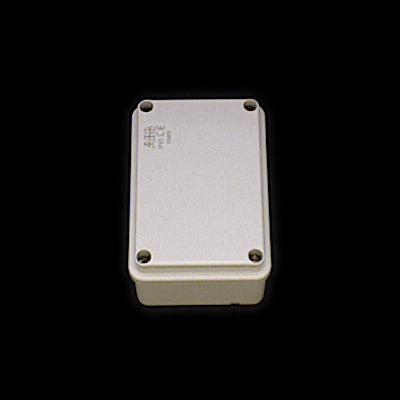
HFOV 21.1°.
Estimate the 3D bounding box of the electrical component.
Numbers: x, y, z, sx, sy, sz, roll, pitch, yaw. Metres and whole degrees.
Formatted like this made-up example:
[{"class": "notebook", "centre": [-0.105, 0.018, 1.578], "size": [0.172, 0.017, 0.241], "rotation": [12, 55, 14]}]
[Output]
[{"class": "electrical component", "centre": [0.000, 0.000, 0.627], "size": [0.078, 0.113, 0.057], "rotation": [-1, -27, -1]}]
